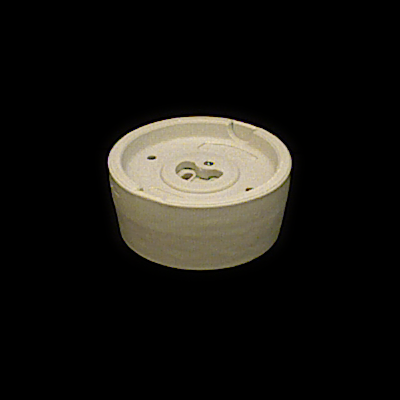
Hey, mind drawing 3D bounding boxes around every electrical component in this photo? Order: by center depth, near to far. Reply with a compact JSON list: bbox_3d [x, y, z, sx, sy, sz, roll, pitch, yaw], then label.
[{"bbox_3d":[0.000,0.000,0.645,0.108,0.061,0.106,1,32,0],"label":"electrical component"}]
